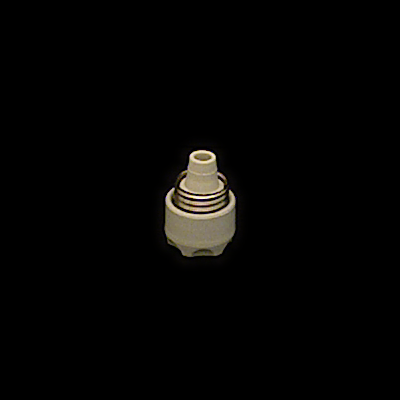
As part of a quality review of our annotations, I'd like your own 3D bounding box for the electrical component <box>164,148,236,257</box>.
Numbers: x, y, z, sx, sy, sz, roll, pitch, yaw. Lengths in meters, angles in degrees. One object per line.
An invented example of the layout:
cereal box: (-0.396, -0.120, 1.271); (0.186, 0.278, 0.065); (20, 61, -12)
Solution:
electrical component: (0.000, 0.000, 0.641); (0.043, 0.063, 0.043); (2, 33, -1)
